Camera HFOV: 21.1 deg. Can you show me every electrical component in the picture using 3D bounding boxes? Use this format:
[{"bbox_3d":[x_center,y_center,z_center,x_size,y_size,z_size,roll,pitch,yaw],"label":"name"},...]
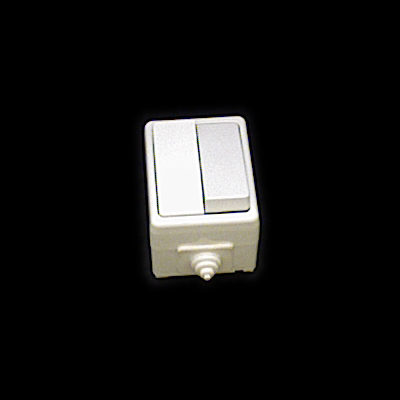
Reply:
[{"bbox_3d":[0.000,0.000,0.626,0.062,0.096,0.061,-3,-38,-3],"label":"electrical component"}]
